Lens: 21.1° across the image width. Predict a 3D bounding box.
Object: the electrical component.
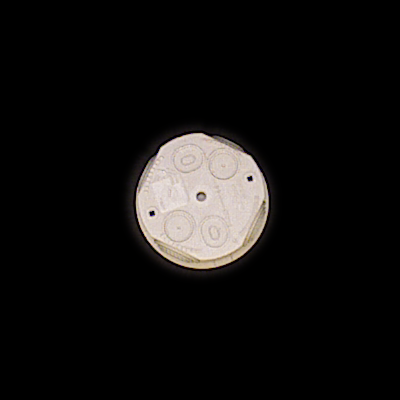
[{"bbox_3d":[0.000,0.000,0.633,0.080,0.080,0.050,0,-6,1],"label":"electrical component"}]
